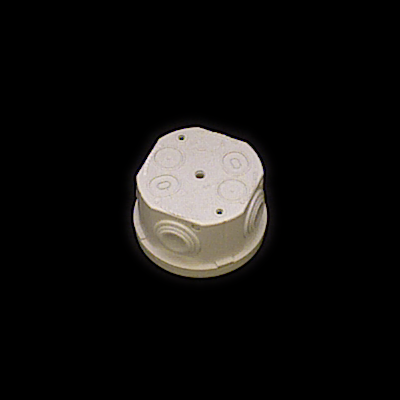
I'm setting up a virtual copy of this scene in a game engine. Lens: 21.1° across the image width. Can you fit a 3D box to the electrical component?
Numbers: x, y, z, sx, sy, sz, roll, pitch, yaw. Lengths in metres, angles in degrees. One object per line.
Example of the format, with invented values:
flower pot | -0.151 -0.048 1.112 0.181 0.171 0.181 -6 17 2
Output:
electrical component | 0.000 0.000 0.633 0.080 0.080 0.051 0 -38 0
